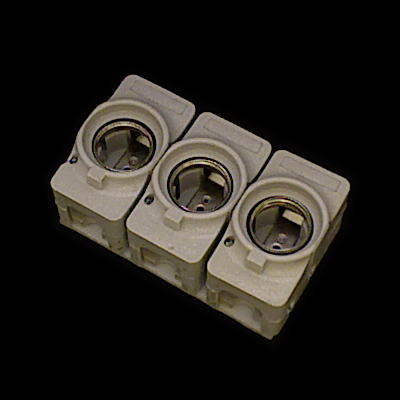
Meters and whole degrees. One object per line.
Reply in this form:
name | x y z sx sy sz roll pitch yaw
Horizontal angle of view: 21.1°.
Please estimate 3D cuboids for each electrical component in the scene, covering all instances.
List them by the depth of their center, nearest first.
electrical component | 0.000 0.000 0.631 0.150 0.089 0.062 27 -23 14
